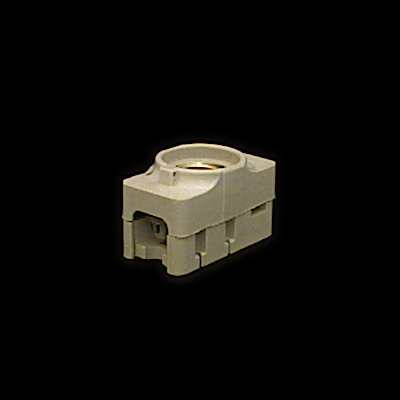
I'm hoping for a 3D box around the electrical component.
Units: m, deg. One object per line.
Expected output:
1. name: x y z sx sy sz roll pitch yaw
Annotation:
1. electrical component: 0.000 0.000 0.647 0.049 0.056 0.090 18 27 36
